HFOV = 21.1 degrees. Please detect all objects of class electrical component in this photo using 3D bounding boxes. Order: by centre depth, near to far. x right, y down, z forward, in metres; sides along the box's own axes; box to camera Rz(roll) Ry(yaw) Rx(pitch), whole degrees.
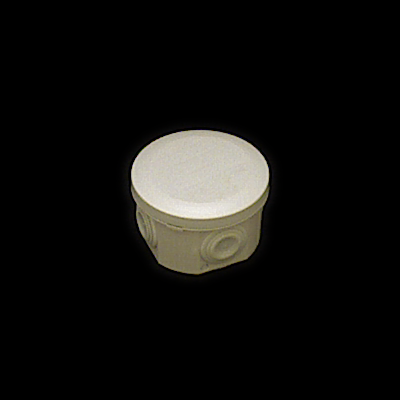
[{"bbox_3d":[0.000,0.000,0.632,0.080,0.051,0.080,0,42,0],"label":"electrical component"}]
